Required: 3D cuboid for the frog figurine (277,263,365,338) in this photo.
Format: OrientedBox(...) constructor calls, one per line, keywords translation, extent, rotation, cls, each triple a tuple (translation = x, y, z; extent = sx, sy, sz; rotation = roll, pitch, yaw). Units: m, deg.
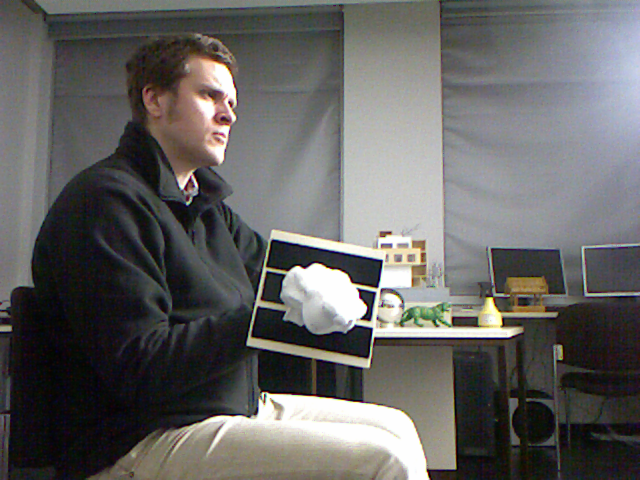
OrientedBox(translation=(0.002, 0.088, 0.781), extent=(0.138, 0.125, 0.157), rotation=(30, -19, 4), cls="frog figurine")
